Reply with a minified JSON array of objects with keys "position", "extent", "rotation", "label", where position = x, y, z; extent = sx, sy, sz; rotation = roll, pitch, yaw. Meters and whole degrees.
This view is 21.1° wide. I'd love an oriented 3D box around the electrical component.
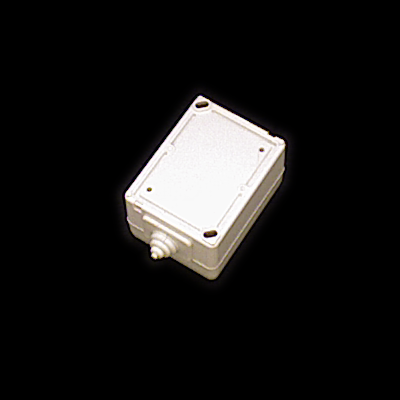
[{"position":[0.000,0.000,0.628],"extent":[0.061,0.096,0.061],"rotation":[29,-23,14],"label":"electrical component"}]
